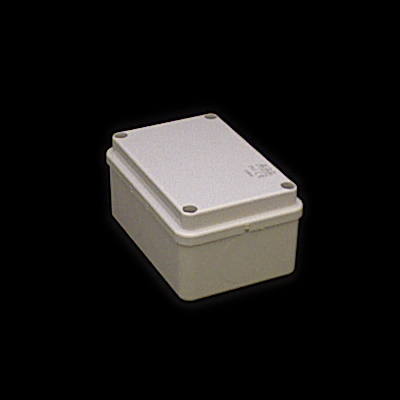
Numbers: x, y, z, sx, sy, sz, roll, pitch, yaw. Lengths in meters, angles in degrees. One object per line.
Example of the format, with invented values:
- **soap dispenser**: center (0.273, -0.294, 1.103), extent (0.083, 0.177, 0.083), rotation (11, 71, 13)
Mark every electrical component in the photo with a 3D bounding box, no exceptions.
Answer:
- **electrical component**: center (0.000, 0.000, 0.635), extent (0.078, 0.058, 0.111), rotation (-14, 34, -23)
